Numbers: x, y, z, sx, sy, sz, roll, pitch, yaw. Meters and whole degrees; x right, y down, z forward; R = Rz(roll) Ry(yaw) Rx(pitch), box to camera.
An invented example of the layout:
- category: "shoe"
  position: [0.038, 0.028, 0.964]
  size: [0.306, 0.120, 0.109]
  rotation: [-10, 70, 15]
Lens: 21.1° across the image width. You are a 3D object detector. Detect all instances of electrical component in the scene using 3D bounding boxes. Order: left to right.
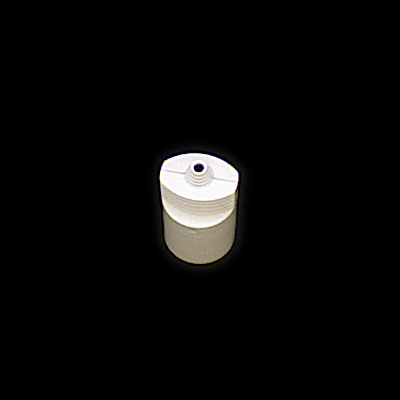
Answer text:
- category: "electrical component"
  position: [0.000, 0.000, 0.617]
  size: [0.043, 0.043, 0.081]
  rotation: [0, -27, 0]
